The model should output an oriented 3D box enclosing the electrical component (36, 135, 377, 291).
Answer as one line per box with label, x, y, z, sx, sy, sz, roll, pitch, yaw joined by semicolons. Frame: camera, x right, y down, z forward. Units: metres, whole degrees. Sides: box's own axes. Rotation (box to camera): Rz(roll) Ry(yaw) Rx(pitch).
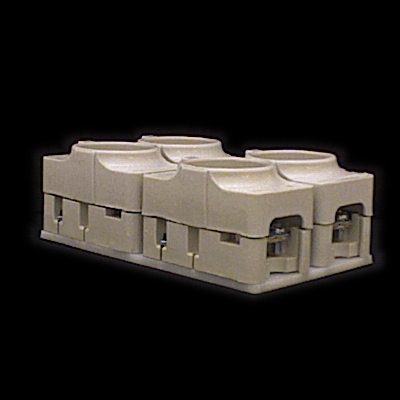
electrical component;0.000;0.000;0.643;0.105;0.060;0.185;-9;14;-44
